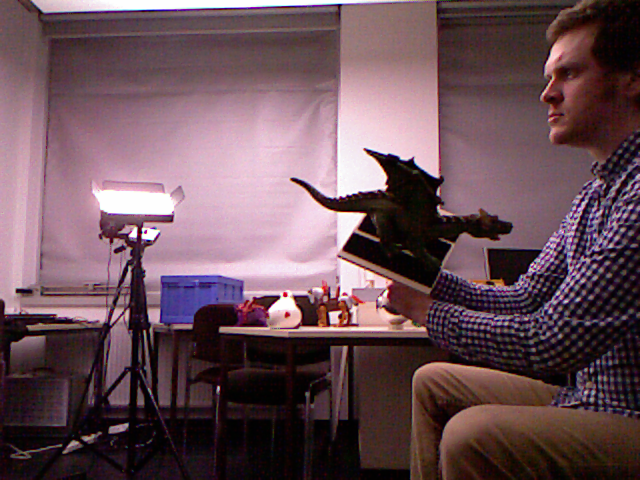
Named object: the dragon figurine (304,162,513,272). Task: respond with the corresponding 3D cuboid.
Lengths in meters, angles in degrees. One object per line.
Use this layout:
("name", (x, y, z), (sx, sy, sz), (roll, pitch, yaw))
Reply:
("dragon figurine", (0.147, -0.073, 0.970), (0.413, 0.125, 0.238), (22, -29, 13))
